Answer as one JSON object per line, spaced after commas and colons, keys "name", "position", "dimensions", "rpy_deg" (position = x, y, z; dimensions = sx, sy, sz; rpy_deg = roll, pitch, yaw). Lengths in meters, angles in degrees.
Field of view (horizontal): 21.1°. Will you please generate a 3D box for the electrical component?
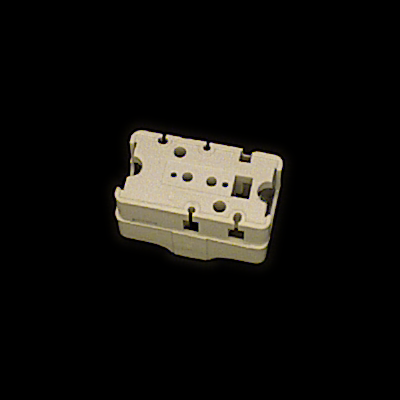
{"name": "electrical component", "position": [0.000, 0.000, 0.636], "dimensions": [0.089, 0.050, 0.055], "rpy_deg": [11, -27, 5]}
